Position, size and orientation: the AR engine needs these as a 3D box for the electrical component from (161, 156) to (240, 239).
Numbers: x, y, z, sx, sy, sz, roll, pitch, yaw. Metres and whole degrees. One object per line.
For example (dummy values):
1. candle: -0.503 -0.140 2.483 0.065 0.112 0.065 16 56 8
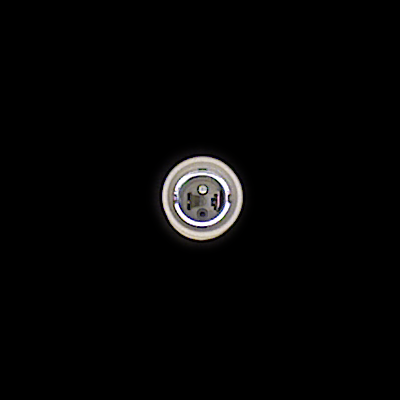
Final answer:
1. electrical component: 0.000 0.000 0.629 0.045 0.045 0.055 0 -6 0
